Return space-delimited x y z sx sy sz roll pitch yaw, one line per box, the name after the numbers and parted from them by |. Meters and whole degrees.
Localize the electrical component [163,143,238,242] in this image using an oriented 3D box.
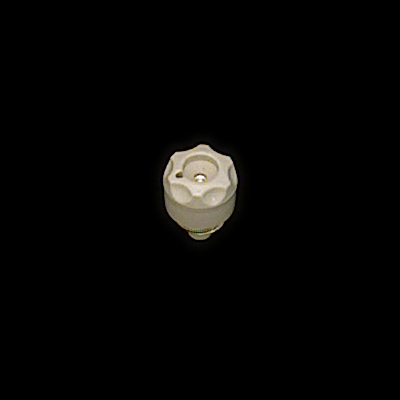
0.000 0.000 0.636 0.043 0.043 0.062 0 -38 -1 | electrical component
